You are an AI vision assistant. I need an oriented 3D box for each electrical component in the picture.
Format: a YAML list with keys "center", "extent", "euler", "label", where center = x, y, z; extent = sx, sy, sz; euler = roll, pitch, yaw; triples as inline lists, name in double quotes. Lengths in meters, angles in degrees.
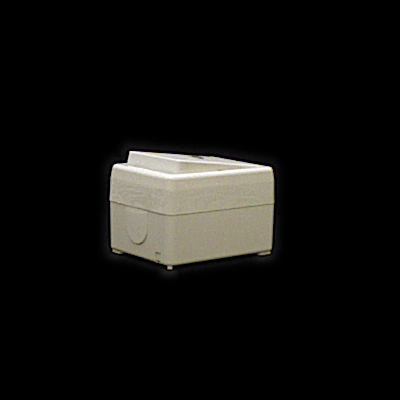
- center: [0.000, 0.000, 0.645]
  extent: [0.096, 0.061, 0.061]
  euler: [-7, 13, -38]
  label: "electrical component"
